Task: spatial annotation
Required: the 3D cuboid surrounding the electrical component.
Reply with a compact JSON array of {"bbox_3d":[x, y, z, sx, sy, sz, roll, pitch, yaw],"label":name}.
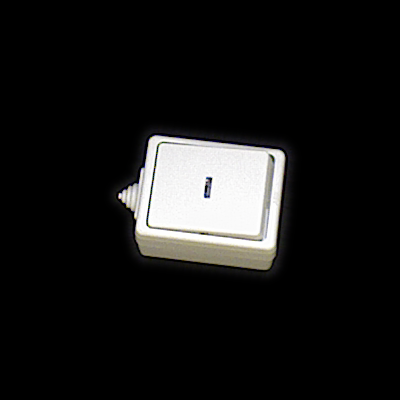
[{"bbox_3d":[0.000,0.000,0.626,0.096,0.062,0.060,7,-17,2],"label":"electrical component"}]
